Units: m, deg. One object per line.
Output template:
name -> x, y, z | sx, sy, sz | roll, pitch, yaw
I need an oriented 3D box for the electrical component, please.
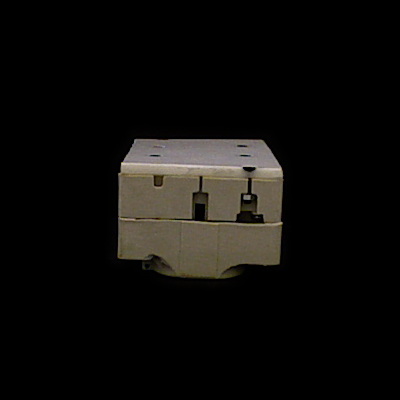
electrical component -> 0.000, 0.000, 0.653 | 0.089, 0.062, 0.148 | 2, 9, 0
